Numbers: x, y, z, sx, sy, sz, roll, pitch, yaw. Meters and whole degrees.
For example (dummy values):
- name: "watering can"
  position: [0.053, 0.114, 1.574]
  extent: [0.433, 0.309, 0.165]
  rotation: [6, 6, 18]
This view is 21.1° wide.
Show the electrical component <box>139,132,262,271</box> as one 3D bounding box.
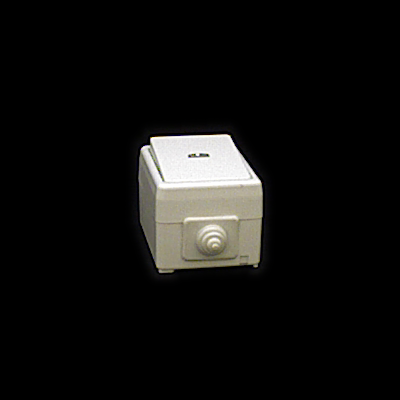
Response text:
- name: "electrical component"
  position: [0.000, 0.000, 0.636]
  extent: [0.062, 0.061, 0.095]
  rotation: [-3, 21, -10]
